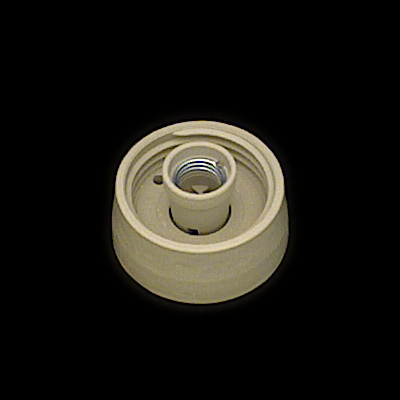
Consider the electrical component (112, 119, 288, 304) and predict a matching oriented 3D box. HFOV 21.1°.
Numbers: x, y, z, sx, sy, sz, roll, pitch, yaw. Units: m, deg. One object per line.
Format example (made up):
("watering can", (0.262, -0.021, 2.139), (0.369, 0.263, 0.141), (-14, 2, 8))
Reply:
("electrical component", (0.000, 0.000, 0.636), (0.108, 0.107, 0.060), (0, -37, 0))
